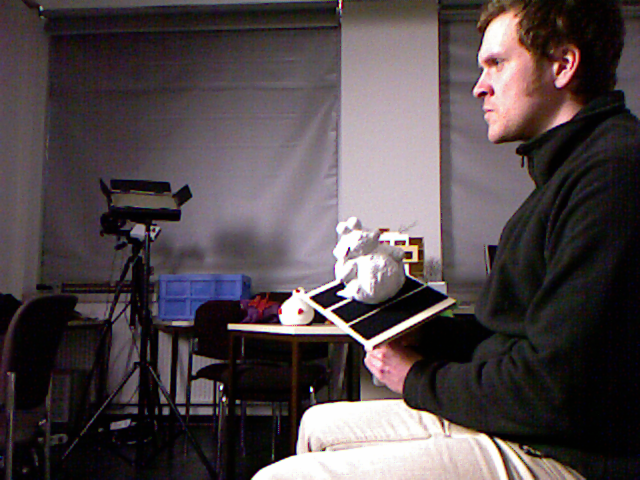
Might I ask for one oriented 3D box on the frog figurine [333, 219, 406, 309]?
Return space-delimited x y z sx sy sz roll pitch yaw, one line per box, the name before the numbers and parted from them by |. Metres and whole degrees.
frog figurine | 0.090 0.039 0.935 0.138 0.156 0.125 -12 34 -10
